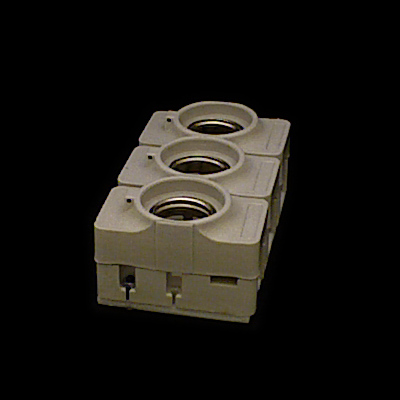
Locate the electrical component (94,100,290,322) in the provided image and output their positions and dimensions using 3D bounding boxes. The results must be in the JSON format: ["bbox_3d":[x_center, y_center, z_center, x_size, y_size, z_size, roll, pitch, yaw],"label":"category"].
[{"bbox_3d":[0.000,0.000,0.640,0.089,0.063,0.147,6,31,9],"label":"electrical component"}]
